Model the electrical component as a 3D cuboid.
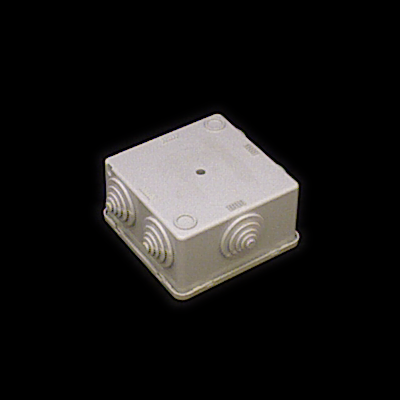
[{"bbox_3d":[0.000,0.000,0.635,0.100,0.049,0.099,-24,48,-25],"label":"electrical component"}]
